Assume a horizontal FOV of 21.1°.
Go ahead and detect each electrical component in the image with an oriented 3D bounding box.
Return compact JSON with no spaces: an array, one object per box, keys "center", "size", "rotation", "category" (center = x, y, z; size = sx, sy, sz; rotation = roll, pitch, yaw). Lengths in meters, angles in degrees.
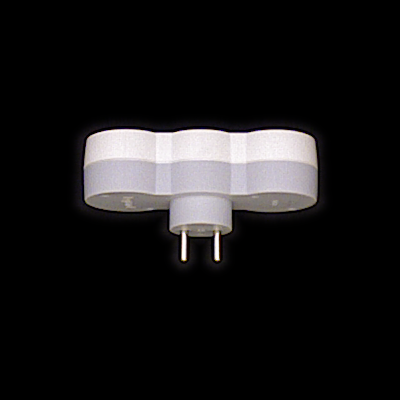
[{"center":[0.000,0.000,0.631],"size":[0.138,0.074,0.052],"rotation":[0,-15,-1],"category":"electrical component"}]
